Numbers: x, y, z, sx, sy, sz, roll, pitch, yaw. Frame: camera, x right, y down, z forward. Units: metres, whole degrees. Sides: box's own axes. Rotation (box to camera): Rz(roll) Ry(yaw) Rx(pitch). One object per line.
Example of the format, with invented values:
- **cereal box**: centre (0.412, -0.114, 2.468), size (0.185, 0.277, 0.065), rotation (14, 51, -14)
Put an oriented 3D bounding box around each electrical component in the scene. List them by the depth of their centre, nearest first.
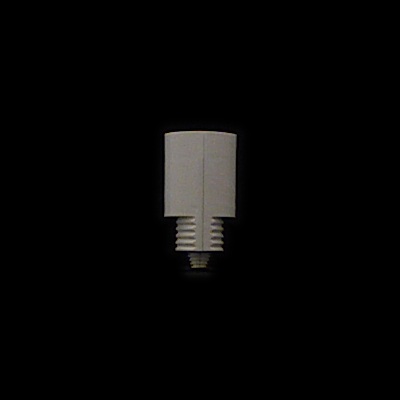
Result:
- **electrical component**: centre (0.000, 0.000, 0.650), size (0.043, 0.081, 0.043), rotation (2, 0, 0)
